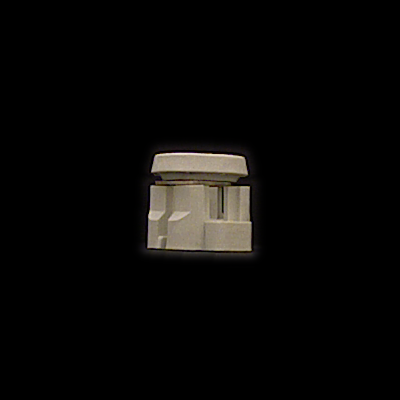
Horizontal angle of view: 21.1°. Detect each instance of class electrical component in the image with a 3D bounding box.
[{"bbox_3d":[0.000,0.000,0.650,0.058,0.057,0.078,1,1,-35],"label":"electrical component"}]
